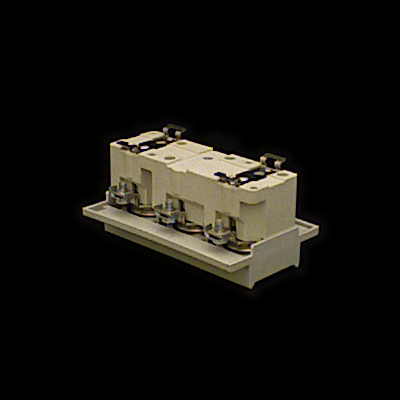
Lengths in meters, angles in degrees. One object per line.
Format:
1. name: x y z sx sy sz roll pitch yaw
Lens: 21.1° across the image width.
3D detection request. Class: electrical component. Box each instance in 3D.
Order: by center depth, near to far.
1. electrical component: 0.000 0.000 0.643 0.119 0.064 0.079 19 29 39
